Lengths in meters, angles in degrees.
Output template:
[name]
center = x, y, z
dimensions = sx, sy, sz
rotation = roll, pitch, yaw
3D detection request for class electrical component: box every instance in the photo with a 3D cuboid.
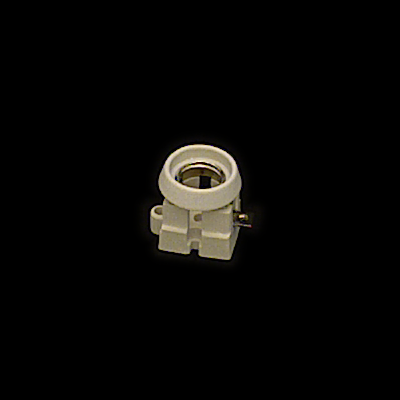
[electrical component]
center = 0.000, 0.000, 0.640
dimensions = 0.066, 0.056, 0.048
rotation = 8, 45, 7
